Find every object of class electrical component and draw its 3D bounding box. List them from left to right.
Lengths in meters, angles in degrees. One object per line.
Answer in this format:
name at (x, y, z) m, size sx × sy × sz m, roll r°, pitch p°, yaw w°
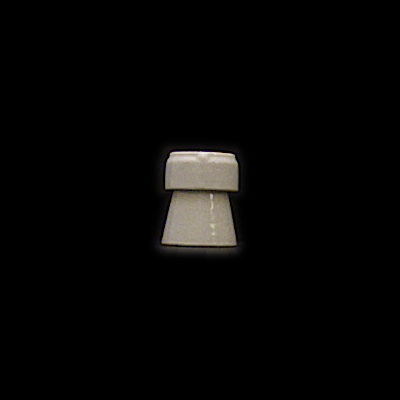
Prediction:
electrical component at (0.000, 0.000, 0.650) m, size 0.045 × 0.055 × 0.044 m, roll 2°, pitch 1°, yaw 0°
